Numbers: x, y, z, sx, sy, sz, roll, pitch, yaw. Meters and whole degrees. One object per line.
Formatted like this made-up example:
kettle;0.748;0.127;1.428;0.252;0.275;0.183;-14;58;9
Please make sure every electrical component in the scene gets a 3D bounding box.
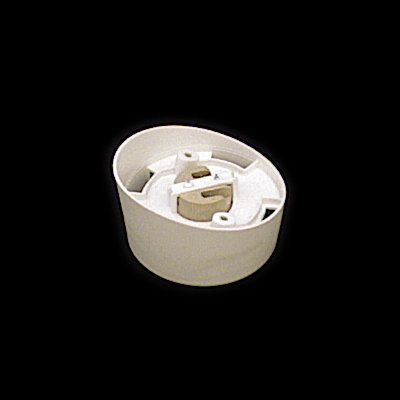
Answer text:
electrical component;0.000;0.000;0.628;0.099;0.064;0.098;0;42;0
